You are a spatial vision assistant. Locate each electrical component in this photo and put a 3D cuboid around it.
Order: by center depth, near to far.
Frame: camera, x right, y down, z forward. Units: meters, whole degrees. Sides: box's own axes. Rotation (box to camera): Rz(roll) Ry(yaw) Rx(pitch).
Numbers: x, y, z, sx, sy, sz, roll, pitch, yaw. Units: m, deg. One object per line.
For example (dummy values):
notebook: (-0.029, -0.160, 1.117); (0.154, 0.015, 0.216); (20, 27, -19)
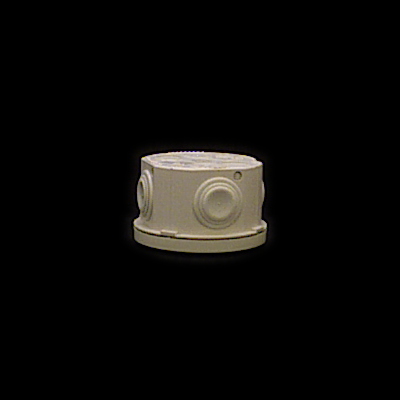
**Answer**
electrical component: (0.000, 0.000, 0.644); (0.080, 0.051, 0.079); (1, 11, 0)
